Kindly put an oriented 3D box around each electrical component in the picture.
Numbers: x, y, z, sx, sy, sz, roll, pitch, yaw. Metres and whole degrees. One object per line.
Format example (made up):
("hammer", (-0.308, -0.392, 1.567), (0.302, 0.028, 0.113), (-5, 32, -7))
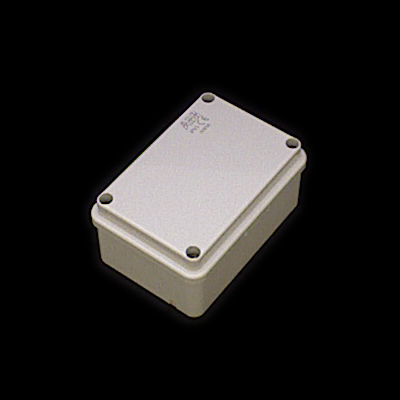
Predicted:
("electrical component", (0.000, 0.000, 0.629), (0.078, 0.113, 0.057), (30, -32, 21))
